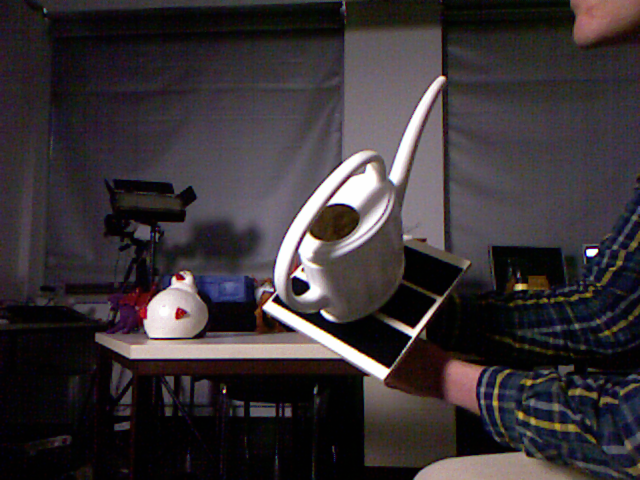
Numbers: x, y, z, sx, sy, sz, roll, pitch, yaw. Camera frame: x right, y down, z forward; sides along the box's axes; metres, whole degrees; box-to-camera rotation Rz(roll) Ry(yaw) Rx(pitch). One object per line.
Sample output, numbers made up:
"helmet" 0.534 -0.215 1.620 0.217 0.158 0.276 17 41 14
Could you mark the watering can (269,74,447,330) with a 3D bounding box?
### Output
"watering can" 0.070 -0.032 0.644 0.106 0.356 0.221 27 -28 32
